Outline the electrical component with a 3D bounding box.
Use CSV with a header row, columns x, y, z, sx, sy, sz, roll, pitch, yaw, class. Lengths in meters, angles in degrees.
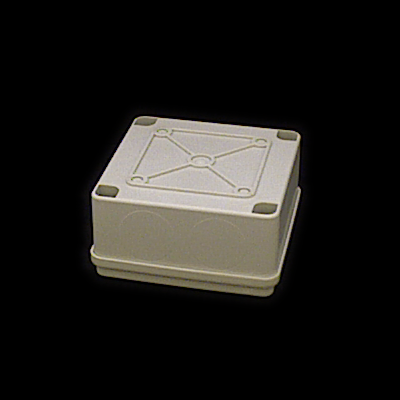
x,y,z,sx,sy,sz,roll,pitch,yaw,class
0.000,0.000,0.636,0.108,0.057,0.107,7,31,9,electrical component
